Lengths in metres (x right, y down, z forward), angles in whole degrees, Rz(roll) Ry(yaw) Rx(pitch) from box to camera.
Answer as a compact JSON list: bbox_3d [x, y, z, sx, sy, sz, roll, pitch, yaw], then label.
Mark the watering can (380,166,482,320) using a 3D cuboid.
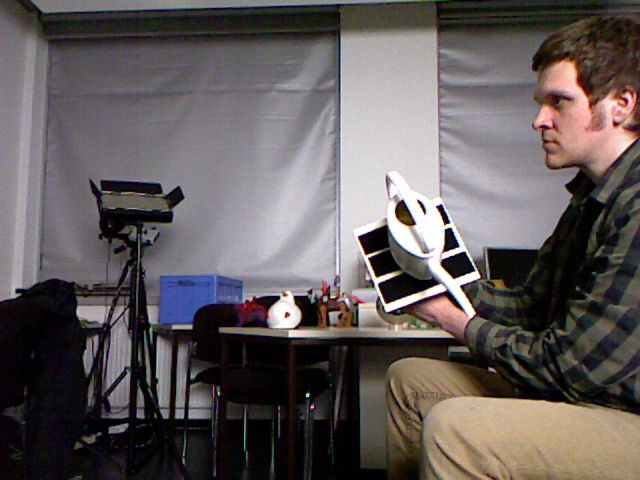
[{"bbox_3d":[0.200,0.018,1.007,0.104,0.355,0.221,-23,-24,-2],"label":"watering can"}]
